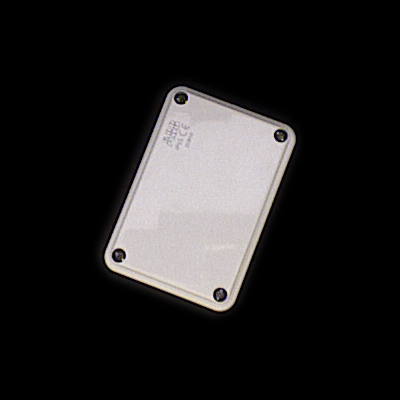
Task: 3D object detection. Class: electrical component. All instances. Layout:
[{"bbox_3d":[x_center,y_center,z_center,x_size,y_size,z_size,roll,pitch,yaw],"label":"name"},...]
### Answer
[{"bbox_3d":[0.000,0.000,0.628,0.078,0.113,0.057,21,-6,3],"label":"electrical component"}]
